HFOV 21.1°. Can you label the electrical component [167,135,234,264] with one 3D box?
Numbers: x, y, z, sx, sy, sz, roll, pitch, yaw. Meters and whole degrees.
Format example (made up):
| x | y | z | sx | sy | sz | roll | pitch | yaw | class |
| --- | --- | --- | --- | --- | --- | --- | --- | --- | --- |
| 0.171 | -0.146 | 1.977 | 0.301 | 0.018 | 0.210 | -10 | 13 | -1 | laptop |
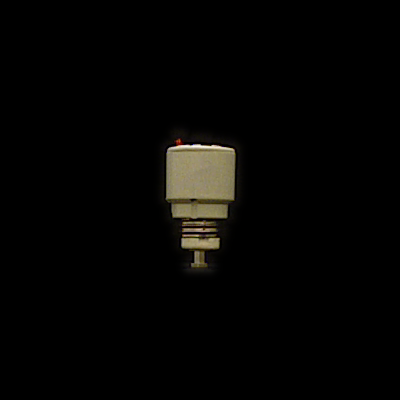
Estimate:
| x | y | z | sx | sy | sz | roll | pitch | yaw | class |
| --- | --- | --- | --- | --- | --- | --- | --- | --- | --- |
| 0.000 | 0.000 | 0.650 | 0.040 | 0.078 | 0.040 | 1 | 1 | 0 | electrical component |
